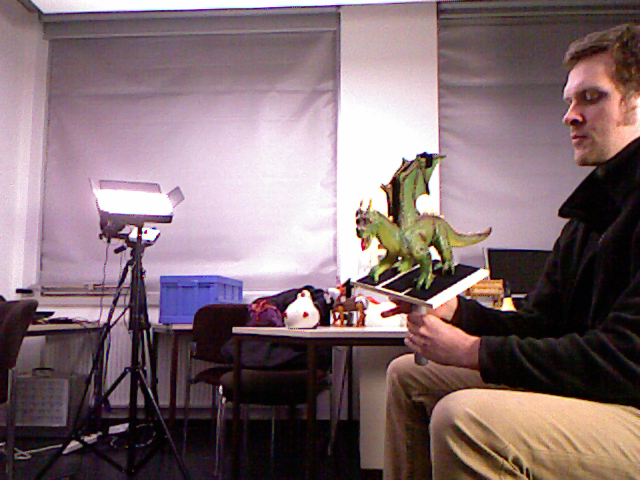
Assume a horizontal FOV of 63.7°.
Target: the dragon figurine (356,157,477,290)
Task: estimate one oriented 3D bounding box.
[{"bbox_3d":[0.206,-0.047,1.035,0.123,0.239,0.415,18,30,41],"label":"dragon figurine"}]
